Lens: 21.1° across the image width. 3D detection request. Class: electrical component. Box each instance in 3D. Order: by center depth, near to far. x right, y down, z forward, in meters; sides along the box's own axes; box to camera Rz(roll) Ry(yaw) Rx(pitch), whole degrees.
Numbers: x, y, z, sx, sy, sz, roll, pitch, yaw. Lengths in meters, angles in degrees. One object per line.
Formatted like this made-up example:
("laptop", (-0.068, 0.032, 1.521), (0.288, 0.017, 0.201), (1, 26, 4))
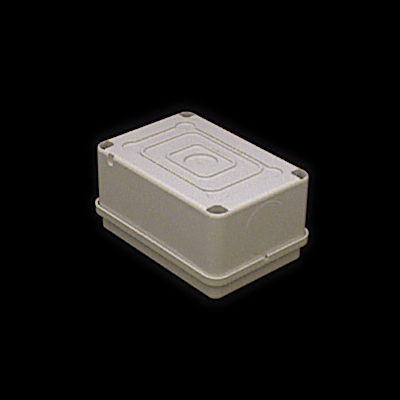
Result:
("electrical component", (0.000, 0.000, 0.635), (0.078, 0.058, 0.112), (-24, 40, -35))
